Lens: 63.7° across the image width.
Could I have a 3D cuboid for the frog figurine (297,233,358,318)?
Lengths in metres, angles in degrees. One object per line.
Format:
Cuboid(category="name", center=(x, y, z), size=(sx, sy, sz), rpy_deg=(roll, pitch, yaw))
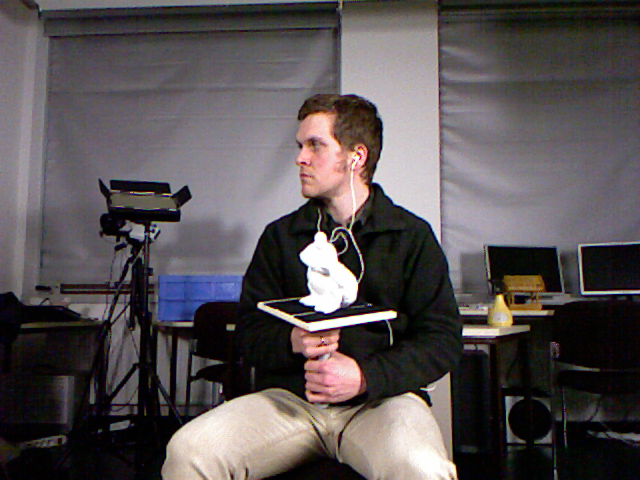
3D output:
Cuboid(category="frog figurine", center=(0.016, 0.062, 1.022), size=(0.123, 0.158, 0.138), rpy_deg=(0, 9, -15))
